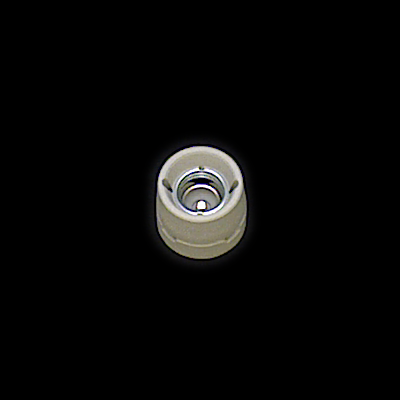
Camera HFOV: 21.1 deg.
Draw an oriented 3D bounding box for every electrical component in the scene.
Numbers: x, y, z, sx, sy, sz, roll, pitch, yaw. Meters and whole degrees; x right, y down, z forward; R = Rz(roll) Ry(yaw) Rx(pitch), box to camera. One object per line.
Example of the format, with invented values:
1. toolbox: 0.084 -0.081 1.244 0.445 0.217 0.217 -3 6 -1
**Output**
1. electrical component: 0.000 0.000 0.633 0.055 0.056 0.047 0 -27 1
